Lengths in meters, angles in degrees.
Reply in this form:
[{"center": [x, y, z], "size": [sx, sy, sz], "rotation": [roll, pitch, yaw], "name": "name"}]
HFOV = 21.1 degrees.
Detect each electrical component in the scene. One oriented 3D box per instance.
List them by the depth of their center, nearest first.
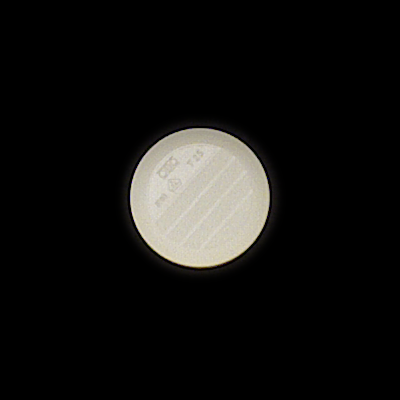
[{"center": [0.000, 0.000, 0.631], "size": [0.080, 0.080, 0.050], "rotation": [0, -7, 0], "name": "electrical component"}]
